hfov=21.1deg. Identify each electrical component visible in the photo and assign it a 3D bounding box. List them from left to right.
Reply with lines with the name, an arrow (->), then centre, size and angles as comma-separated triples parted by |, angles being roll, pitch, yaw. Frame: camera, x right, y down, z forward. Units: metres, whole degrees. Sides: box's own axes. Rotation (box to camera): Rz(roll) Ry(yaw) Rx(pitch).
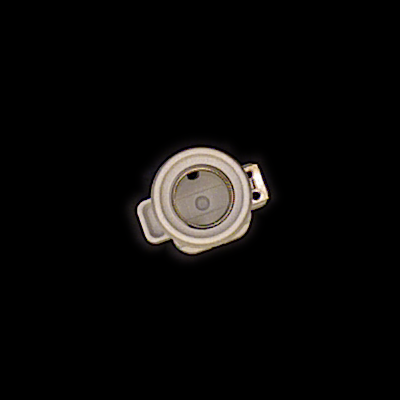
electrical component -> 0.000, 0.000, 0.630 | 0.078, 0.058, 0.056 | -20, -6, -2
